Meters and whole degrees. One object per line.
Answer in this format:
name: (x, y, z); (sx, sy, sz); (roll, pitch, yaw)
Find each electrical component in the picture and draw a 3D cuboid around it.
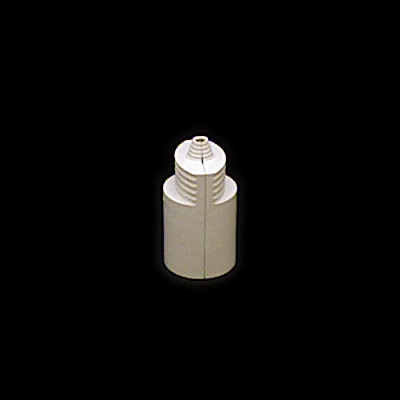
electrical component: (0.000, 0.000, 0.629); (0.043, 0.082, 0.042); (1, 31, 0)
